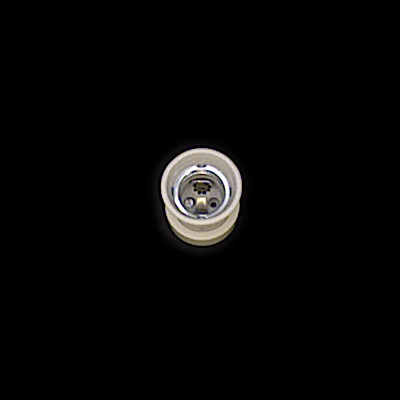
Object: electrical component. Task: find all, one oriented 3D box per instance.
[{"bbox_3d":[0.000,0.000,0.628,0.045,0.045,0.055,0,-17,0],"label":"electrical component"}]
